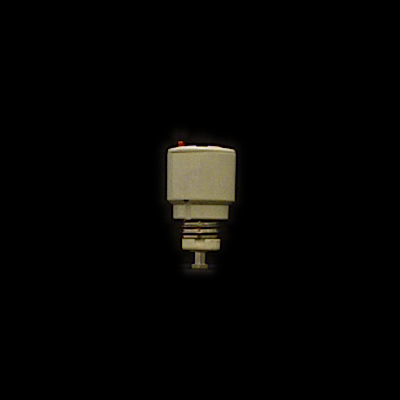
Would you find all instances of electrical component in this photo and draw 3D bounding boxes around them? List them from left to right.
[{"bbox_3d":[0.000,0.000,0.651,0.040,0.078,0.040,1,1,0],"label":"electrical component"}]
